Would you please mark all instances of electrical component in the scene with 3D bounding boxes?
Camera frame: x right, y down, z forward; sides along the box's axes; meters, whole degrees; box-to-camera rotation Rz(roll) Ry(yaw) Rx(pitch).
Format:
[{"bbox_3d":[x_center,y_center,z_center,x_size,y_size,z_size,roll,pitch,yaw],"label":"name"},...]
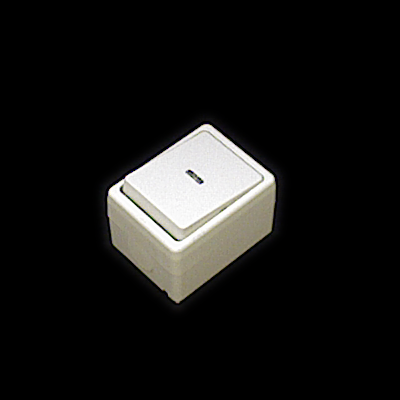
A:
[{"bbox_3d":[0.000,0.000,0.628,0.096,0.061,0.061,-36,61,-25],"label":"electrical component"}]
